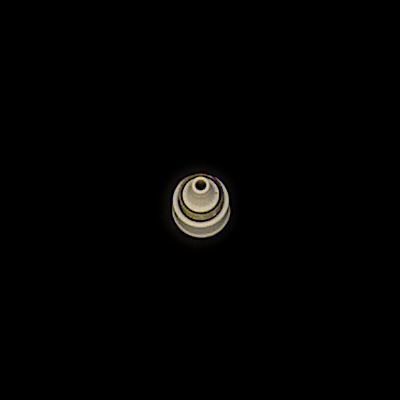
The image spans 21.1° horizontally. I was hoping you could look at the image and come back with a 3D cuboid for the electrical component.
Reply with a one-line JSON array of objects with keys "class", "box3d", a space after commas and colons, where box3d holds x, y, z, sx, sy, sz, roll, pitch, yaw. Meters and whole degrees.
[{"class": "electrical component", "box3d": [0.000, 0.000, 0.637, 0.035, 0.035, 0.061, 0, -17, 0]}]
